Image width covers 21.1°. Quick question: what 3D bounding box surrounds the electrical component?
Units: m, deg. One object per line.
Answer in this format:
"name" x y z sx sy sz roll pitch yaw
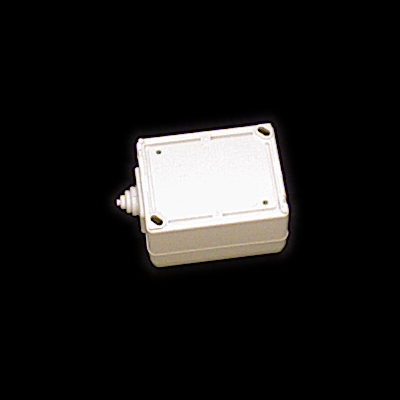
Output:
"electrical component" 0.000 0.000 0.629 0.096 0.062 0.061 -7 -27 -3
